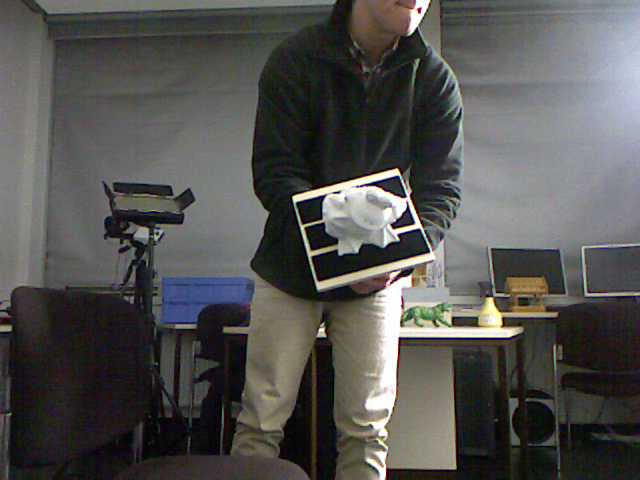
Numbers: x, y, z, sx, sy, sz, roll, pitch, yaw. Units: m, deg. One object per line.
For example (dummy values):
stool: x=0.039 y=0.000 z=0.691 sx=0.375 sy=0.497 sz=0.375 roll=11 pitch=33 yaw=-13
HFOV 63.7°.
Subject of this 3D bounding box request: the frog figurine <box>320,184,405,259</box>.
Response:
frog figurine: x=0.067 y=-0.052 z=0.825 sx=0.137 sy=0.125 sz=0.156 roll=1 pitch=-33 yaw=5
